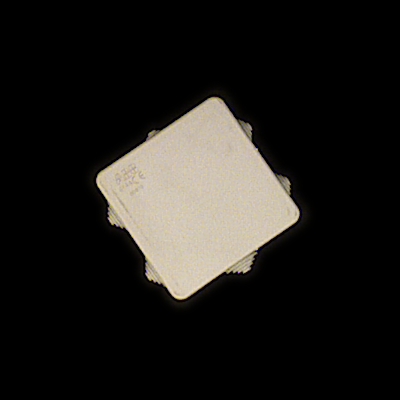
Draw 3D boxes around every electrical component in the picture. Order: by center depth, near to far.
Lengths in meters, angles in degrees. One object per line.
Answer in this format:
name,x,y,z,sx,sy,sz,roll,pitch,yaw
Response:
electrical component,0.000,0.000,0.642,0.100,0.100,0.048,-34,-5,-3
